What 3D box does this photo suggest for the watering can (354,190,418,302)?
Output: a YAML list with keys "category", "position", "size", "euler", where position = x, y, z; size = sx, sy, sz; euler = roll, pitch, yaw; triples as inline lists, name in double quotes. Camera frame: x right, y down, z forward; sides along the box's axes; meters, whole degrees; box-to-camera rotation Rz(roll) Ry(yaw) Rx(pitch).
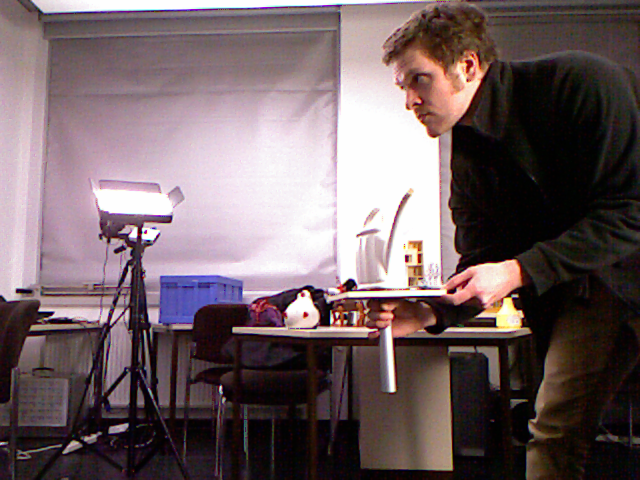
- category: "watering can"
  position: [0.136, 0.019, 1.092]
  size: [0.104, 0.226, 0.345]
  euler: [-2, -7, -10]
